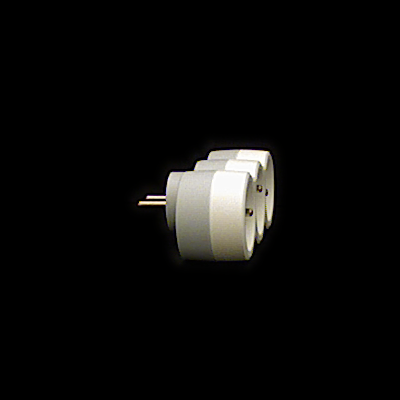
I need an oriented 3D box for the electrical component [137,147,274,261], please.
[{"bbox_3d":[0.000,0.000,0.654,0.073,0.052,0.137,2,11,11],"label":"electrical component"}]
